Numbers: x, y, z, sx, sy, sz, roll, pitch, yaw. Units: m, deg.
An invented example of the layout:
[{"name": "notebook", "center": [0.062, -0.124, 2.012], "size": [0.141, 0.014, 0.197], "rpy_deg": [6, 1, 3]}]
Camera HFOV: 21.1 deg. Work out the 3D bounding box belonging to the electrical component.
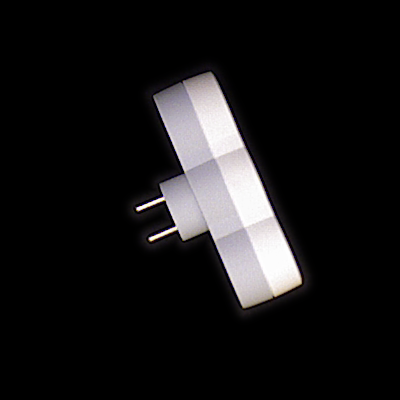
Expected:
[{"name": "electrical component", "center": [0.000, 0.000, 0.631], "size": [0.074, 0.138, 0.052], "rpy_deg": [-23, -5, -1]}]
